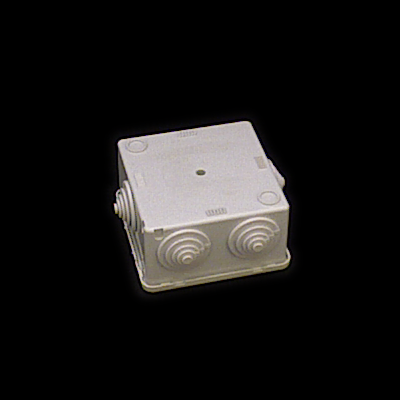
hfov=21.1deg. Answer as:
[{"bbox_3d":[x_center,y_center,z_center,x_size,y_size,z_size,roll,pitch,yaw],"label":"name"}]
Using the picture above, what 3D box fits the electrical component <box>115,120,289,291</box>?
[{"bbox_3d":[0.000,0.000,0.633,0.100,0.049,0.099,-9,43,-11],"label":"electrical component"}]
